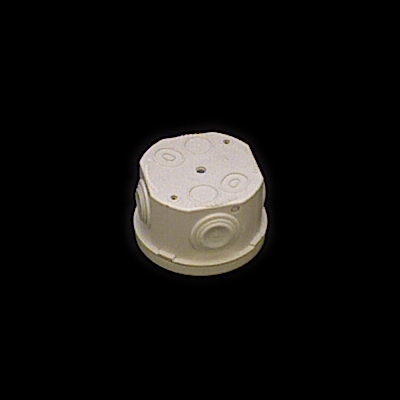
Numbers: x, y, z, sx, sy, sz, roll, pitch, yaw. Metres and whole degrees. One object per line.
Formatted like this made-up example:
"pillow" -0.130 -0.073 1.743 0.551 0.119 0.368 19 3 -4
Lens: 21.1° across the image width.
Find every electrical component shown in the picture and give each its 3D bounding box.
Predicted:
"electrical component" 0.000 0.000 0.635 0.080 0.051 0.079 1 42 0
